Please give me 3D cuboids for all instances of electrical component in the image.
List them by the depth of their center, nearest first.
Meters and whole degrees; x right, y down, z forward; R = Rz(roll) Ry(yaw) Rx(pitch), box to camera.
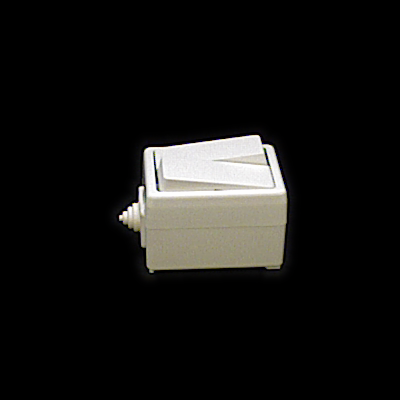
[{"bbox_3d":[0.000,0.000,0.634,0.096,0.061,0.061,-1,31,-4],"label":"electrical component"}]
